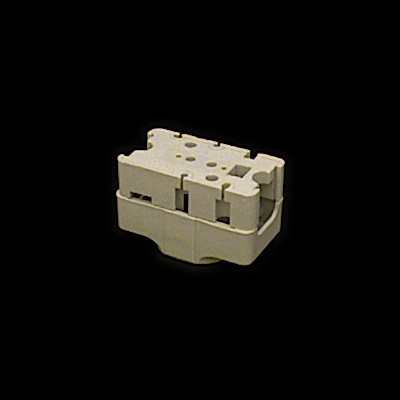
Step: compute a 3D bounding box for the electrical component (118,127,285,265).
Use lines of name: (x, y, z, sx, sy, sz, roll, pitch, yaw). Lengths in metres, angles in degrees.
electrical component: (0.000, 0.000, 0.643, 0.089, 0.056, 0.050, 16, 35, 22)
